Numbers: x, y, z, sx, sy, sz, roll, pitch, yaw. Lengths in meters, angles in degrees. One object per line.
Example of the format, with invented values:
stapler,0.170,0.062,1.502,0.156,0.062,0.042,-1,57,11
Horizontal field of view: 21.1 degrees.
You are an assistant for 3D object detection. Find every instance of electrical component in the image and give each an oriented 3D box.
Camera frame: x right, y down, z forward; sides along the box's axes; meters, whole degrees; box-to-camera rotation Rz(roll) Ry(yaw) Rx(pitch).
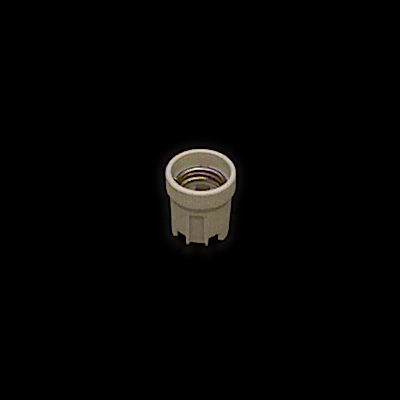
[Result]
electrical component,0.000,0.000,0.631,0.040,0.047,0.039,1,42,0
